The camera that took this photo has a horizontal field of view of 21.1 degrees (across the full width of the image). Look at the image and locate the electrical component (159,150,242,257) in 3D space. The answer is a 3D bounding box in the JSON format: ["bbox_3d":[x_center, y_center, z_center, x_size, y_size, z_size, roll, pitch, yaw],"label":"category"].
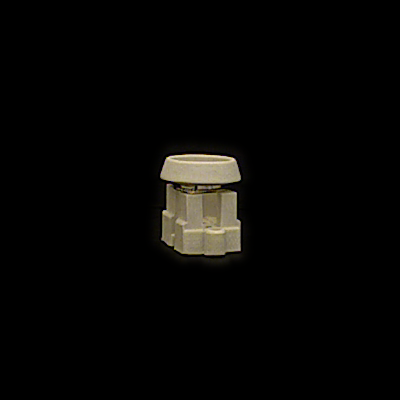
[{"bbox_3d":[0.000,0.000,0.652,0.049,0.056,0.065,-2,12,-22],"label":"electrical component"}]
